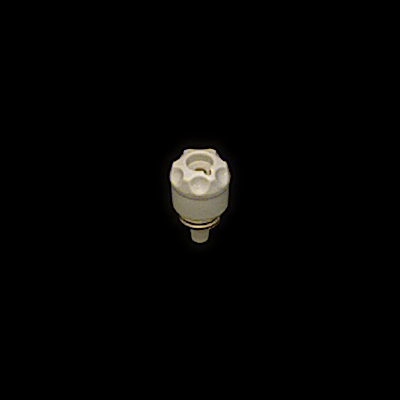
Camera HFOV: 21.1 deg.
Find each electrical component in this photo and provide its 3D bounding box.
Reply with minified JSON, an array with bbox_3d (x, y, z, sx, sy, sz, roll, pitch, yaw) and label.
[{"bbox_3d":[0.000,0.000,0.636,0.035,0.062,0.035,0,43,0],"label":"electrical component"}]
